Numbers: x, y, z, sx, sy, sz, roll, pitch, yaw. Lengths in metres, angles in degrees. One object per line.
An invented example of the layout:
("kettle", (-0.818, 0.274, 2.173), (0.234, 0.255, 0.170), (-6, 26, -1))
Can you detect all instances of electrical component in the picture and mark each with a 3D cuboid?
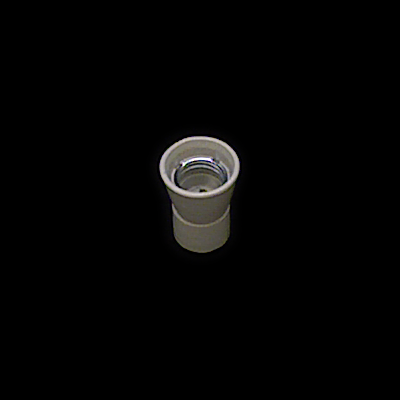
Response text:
("electrical component", (0.000, 0.000, 0.627), (0.044, 0.044, 0.065), (0, -38, 1))
